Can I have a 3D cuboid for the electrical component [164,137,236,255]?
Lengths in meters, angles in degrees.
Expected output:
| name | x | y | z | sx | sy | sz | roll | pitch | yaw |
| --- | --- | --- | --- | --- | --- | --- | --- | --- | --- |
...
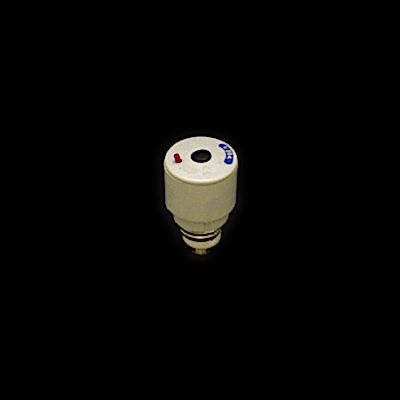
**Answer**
| name | x | y | z | sx | sy | sz | roll | pitch | yaw |
| --- | --- | --- | --- | --- | --- | --- | --- | --- | --- |
| electrical component | 0.000 | 0.000 | 0.624 | 0.040 | 0.079 | 0.039 | 0 | 42 | 0 |
